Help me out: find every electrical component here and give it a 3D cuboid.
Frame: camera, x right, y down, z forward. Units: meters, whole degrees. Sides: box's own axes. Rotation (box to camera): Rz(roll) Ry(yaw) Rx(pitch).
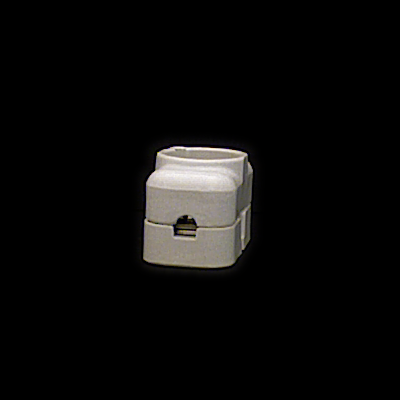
[{"bbox_3d":[0.000,0.000,0.651,0.053,0.060,0.094,4,11,9],"label":"electrical component"}]
